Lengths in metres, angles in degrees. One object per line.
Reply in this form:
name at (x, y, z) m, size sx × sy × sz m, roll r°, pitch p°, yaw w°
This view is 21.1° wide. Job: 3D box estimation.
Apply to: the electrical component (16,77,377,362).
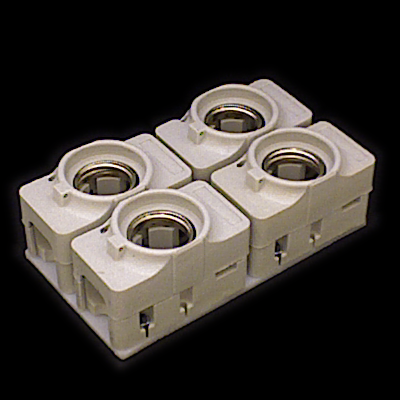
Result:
electrical component at (0.000, 0.000, 0.629) m, size 0.186 × 0.061 × 0.104 m, roll -27°, pitch 49°, yaw -27°
